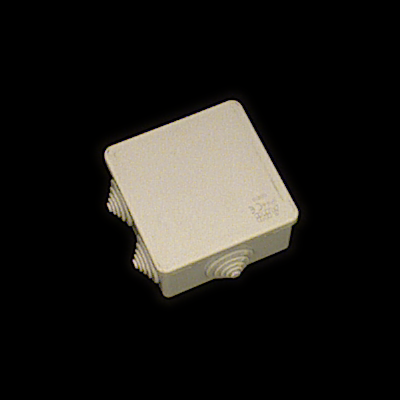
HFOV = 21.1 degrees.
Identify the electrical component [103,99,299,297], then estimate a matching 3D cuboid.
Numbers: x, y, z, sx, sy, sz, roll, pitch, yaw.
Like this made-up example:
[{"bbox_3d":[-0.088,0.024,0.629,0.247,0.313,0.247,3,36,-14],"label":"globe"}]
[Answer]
[{"bbox_3d":[0.000,0.000,0.640,0.100,0.099,0.048,-22,-24,-11],"label":"electrical component"}]
